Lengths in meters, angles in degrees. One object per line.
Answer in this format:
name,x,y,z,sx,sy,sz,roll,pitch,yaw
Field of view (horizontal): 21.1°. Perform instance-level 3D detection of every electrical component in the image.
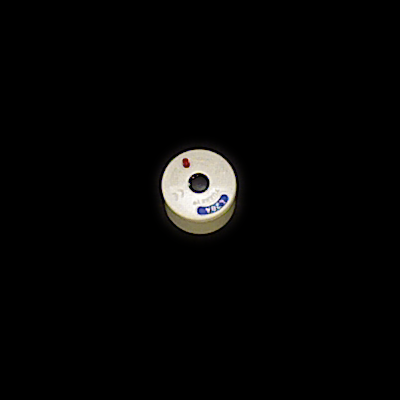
electrical component,0.000,0.000,0.617,0.040,0.040,0.078,0,-17,1
